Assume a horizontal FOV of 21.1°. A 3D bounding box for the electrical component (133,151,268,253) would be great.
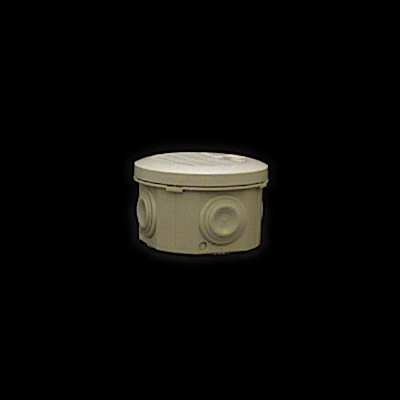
[{"bbox_3d":[0.000,0.000,0.643,0.080,0.051,0.079,1,11,0],"label":"electrical component"}]
